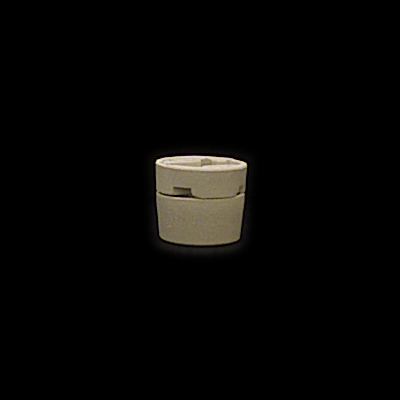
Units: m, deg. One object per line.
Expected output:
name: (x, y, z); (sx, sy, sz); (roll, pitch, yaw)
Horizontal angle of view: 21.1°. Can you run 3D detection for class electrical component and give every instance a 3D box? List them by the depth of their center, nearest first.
electrical component: (0.000, 0.000, 0.647); (0.055, 0.047, 0.055); (1, 11, 0)
